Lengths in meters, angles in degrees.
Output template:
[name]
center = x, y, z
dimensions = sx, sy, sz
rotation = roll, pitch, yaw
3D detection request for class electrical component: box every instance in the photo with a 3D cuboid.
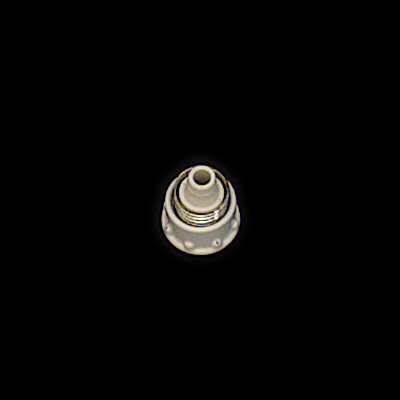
[electrical component]
center = 0.000, 0.000, 0.634
dimensions = 0.048, 0.048, 0.062
rotation = 0, -26, -1
